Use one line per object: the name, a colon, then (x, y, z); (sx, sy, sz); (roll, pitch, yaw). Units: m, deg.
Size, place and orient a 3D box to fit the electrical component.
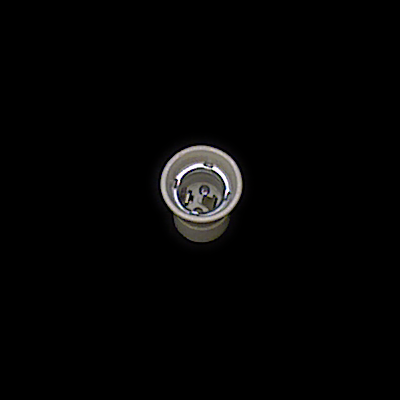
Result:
electrical component: (0.000, 0.000, 0.625); (0.044, 0.044, 0.065); (0, -18, 0)
